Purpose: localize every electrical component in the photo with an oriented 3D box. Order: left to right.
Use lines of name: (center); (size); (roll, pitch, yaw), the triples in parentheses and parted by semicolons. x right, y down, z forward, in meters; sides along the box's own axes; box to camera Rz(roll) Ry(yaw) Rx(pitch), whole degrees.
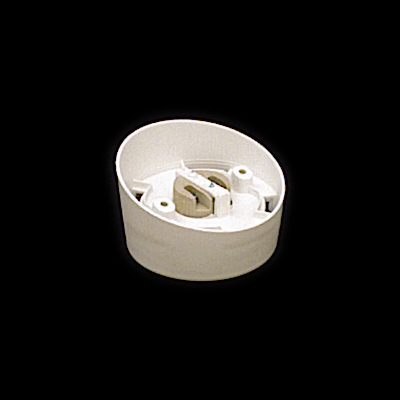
electrical component: (0.000, 0.000, 0.633); (0.099, 0.065, 0.097); (0, 31, 0)
